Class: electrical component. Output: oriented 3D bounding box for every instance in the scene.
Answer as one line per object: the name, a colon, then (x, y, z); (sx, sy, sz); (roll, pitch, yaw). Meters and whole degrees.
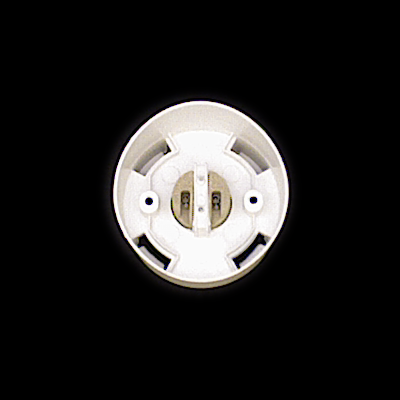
electrical component: (0.000, 0.000, 0.624); (0.099, 0.099, 0.064); (0, -18, 1)
